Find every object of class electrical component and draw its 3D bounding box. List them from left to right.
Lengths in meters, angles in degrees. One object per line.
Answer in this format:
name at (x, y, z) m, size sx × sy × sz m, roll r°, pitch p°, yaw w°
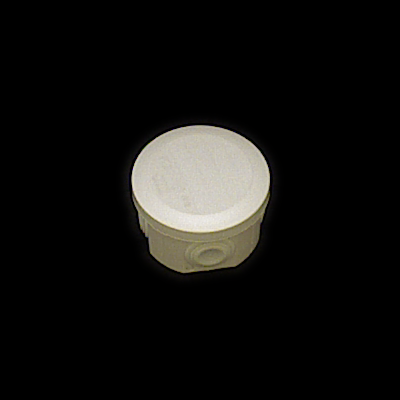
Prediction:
electrical component at (0.000, 0.000, 0.633) m, size 0.080 × 0.080 × 0.051 m, roll 0°, pitch -38°, yaw 0°
